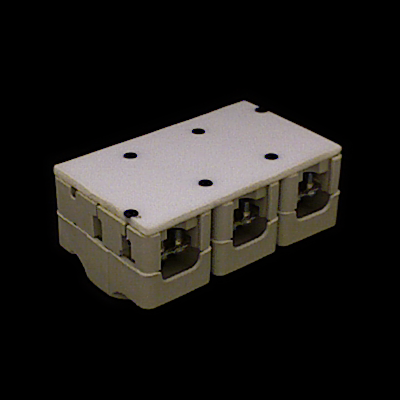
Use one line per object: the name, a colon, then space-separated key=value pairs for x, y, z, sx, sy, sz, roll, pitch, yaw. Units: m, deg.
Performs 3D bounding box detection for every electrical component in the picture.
electrical component: x=0.000 y=0.000 z=0.643 sx=0.149 sy=0.063 sz=0.088 roll=-22 pitch=38 yaw=-34
